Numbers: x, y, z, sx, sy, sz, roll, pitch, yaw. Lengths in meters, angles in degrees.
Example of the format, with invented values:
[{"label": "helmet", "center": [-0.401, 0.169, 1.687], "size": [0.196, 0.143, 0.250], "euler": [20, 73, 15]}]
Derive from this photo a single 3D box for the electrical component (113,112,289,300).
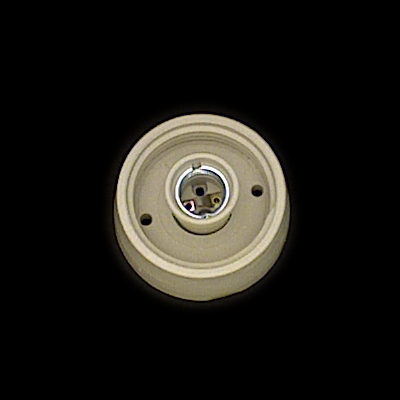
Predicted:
[{"label": "electrical component", "center": [0.000, 0.000, 0.633], "size": [0.108, 0.108, 0.060], "euler": [0, -16, 0]}]
